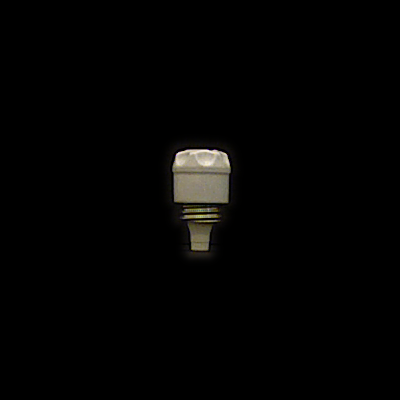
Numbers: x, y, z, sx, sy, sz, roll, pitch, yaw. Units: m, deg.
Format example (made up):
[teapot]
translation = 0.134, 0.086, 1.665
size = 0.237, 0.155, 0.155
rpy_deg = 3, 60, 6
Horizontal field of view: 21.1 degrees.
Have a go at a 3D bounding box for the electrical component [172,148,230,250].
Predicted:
[electrical component]
translation = 0.000, 0.000, 0.655
size = 0.035, 0.061, 0.035
rpy_deg = 1, 2, 0
